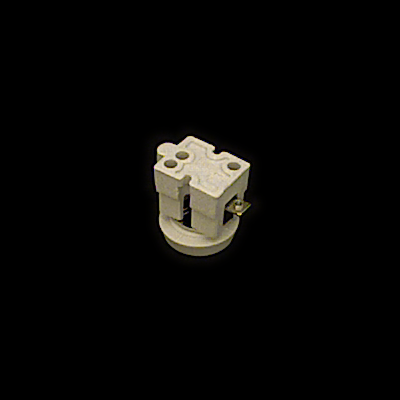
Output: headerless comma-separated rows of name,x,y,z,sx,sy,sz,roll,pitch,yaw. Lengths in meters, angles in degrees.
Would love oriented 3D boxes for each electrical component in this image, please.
electrical component,0.000,0.000,0.640,0.066,0.056,0.048,26,47,24
